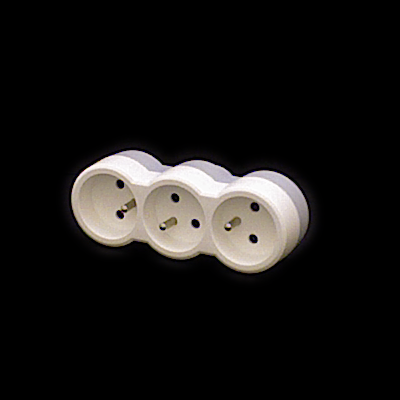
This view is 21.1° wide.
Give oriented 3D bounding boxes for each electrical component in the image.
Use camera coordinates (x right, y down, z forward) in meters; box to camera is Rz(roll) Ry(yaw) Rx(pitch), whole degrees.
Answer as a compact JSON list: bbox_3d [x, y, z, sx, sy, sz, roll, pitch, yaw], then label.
[{"bbox_3d":[0.000,0.000,0.641,0.137,0.053,0.073,9,20,23],"label":"electrical component"}]
